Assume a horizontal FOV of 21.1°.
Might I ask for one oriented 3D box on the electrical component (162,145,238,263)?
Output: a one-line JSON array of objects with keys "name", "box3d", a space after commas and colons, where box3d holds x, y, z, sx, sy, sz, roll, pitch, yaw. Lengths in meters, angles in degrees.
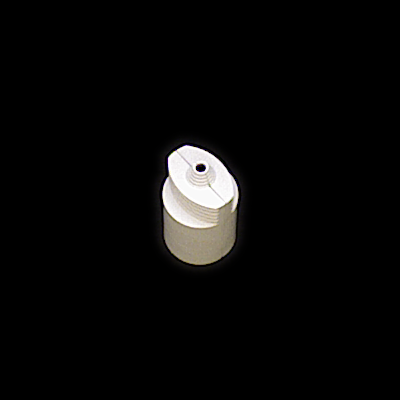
[{"name": "electrical component", "box3d": [0.000, 0.000, 0.617, 0.043, 0.043, 0.081, 0, -27, 0]}]
